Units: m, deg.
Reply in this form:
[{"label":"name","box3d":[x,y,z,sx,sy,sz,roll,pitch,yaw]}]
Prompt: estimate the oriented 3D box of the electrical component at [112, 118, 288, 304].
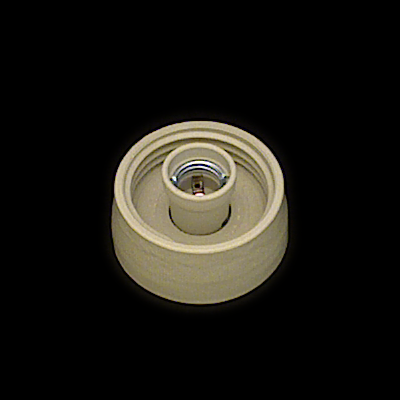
[{"label":"electrical component","box3d":[0.000,0.000,0.634,0.108,0.107,0.060,0,-37,-1]}]
